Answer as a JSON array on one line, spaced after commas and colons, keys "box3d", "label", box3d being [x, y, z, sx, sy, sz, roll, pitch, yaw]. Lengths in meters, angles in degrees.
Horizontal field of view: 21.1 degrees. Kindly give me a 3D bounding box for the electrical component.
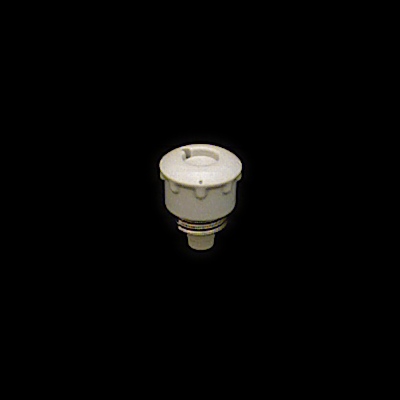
[{"box3d": [0.000, 0.000, 0.639, 0.048, 0.063, 0.047, 1, 32, 0], "label": "electrical component"}]
